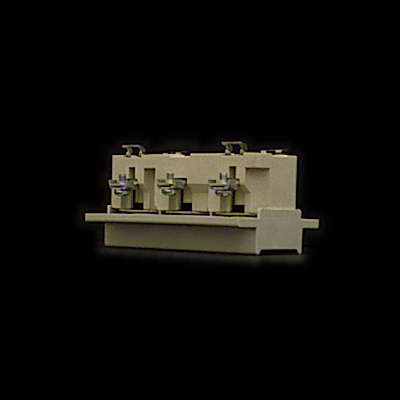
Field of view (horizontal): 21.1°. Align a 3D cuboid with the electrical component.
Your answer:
[{"bbox_3d":[0.000,0.000,0.660,0.120,0.063,0.079,2,0,39],"label":"electrical component"}]
